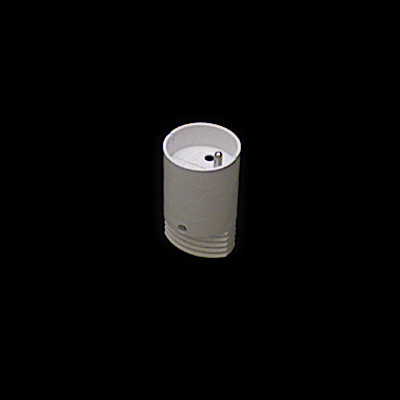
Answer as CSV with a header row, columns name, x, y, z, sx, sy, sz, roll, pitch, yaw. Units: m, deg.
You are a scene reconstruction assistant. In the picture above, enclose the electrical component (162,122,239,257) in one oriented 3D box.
name,x,y,z,sx,sy,sz,roll,pitch,yaw
electrical component,0.000,0.000,0.624,0.043,0.082,0.042,1,42,-1
